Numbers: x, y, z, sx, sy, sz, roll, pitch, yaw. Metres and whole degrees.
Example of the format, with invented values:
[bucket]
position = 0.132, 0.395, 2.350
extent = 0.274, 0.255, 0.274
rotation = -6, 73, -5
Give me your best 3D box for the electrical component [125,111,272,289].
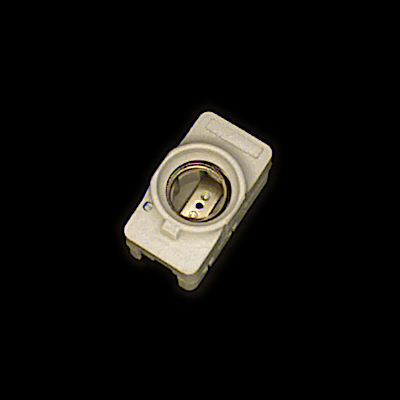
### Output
[electrical component]
position = 0.000, 0.000, 0.636
extent = 0.050, 0.090, 0.055
rotation = 31, -14, 9
